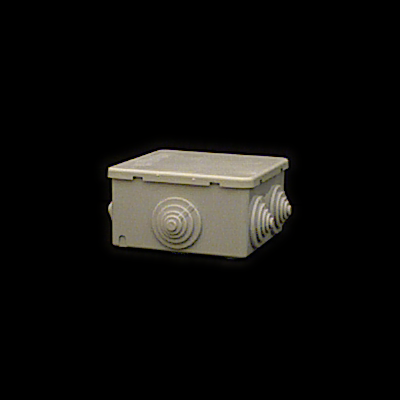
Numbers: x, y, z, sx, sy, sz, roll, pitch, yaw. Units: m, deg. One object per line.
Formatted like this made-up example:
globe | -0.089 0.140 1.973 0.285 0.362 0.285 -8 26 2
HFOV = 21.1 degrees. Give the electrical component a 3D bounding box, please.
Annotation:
electrical component | 0.000 0.000 0.653 0.099 0.049 0.100 5 12 18
